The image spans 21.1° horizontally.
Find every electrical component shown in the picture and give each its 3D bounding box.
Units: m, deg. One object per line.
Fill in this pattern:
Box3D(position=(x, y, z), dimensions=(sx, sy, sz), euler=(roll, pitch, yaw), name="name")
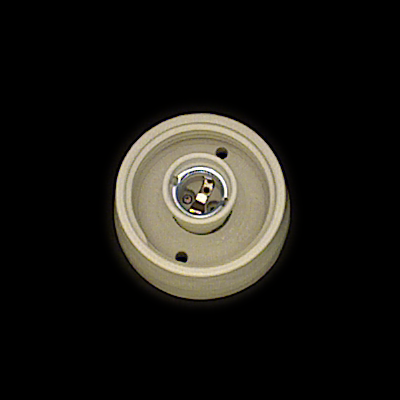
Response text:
Box3D(position=(0.000, 0.000, 0.633), dimensions=(0.108, 0.108, 0.060), euler=(0, -16, 0), name="electrical component")
